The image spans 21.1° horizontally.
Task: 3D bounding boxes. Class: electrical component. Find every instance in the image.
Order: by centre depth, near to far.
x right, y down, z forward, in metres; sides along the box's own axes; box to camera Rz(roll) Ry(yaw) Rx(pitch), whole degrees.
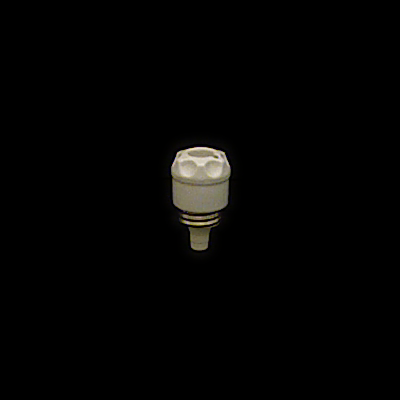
[{"bbox_3d":[0.000,0.000,0.644,0.035,0.062,0.035,1,22,0],"label":"electrical component"}]
